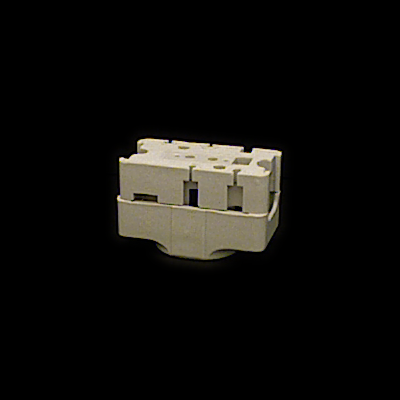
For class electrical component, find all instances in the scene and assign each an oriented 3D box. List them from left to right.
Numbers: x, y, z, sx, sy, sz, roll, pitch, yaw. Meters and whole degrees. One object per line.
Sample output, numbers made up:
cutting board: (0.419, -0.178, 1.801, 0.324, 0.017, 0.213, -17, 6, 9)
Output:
electrical component: (0.000, 0.000, 0.647, 0.089, 0.056, 0.050, 7, 22, 13)
